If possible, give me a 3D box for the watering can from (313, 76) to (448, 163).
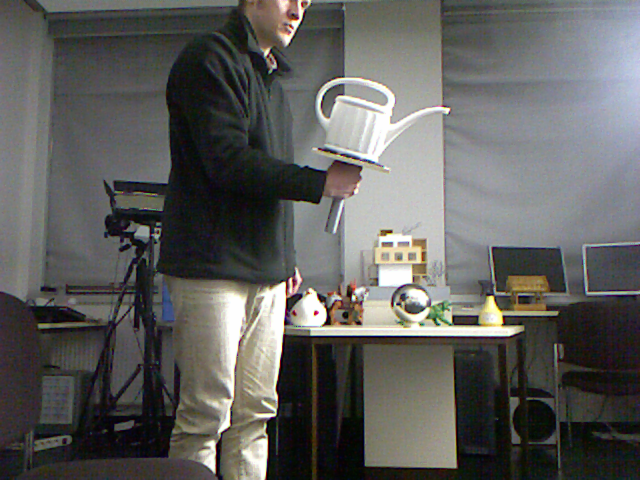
[{"bbox_3d":[0.143,-0.297,1.350,0.348,0.222,0.105,15,14,-2],"label":"watering can"}]
